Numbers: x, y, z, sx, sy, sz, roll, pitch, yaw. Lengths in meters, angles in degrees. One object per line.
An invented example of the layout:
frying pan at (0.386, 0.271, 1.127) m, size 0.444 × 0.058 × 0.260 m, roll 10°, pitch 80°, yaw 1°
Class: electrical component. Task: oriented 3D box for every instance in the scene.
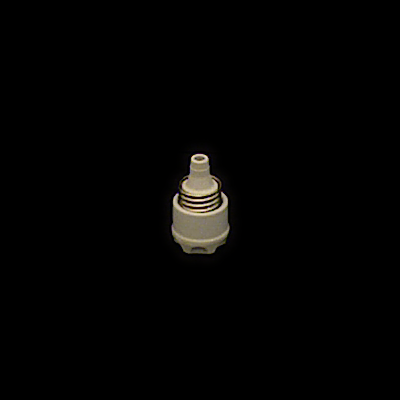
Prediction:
electrical component at (0.000, 0.000, 0.646) m, size 0.035 × 0.062 × 0.034 m, roll -1°, pitch 33°, yaw 1°
